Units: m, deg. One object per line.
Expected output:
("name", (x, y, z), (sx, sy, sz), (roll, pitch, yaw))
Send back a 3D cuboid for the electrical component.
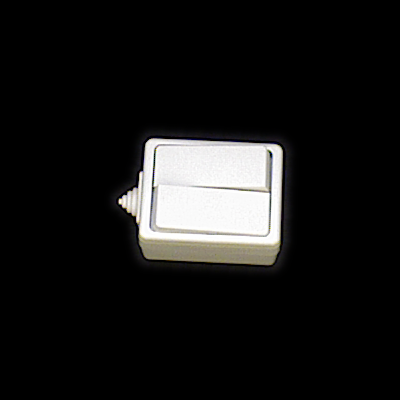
("electrical component", (0.000, 0.000, 0.626), (0.096, 0.062, 0.060), (3, -17, 1))
